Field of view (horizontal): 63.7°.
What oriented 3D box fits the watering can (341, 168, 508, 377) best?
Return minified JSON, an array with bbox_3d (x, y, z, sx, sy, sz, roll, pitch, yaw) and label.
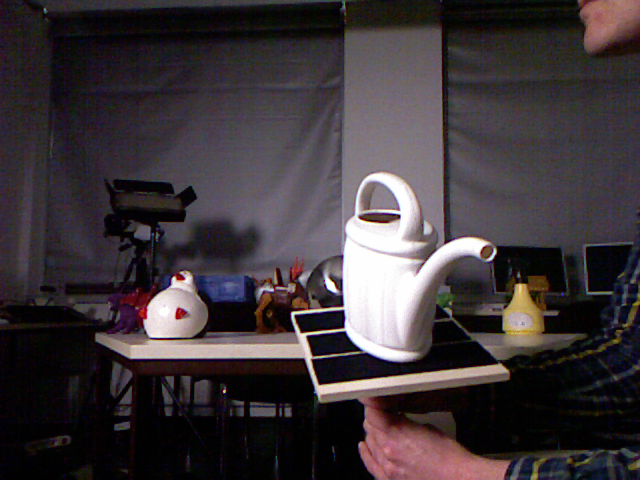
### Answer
[{"bbox_3d":[0.086,0.044,0.552,0.105,0.223,0.354,-5,17,-11],"label":"watering can"}]
